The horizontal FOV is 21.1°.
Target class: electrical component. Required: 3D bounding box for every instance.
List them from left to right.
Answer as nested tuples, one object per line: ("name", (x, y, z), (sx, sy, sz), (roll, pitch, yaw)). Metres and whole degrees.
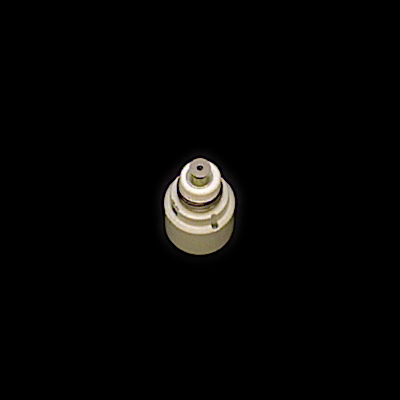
("electrical component", (0.000, 0.000, 0.619), (0.040, 0.040, 0.078), (0, -27, -1))
